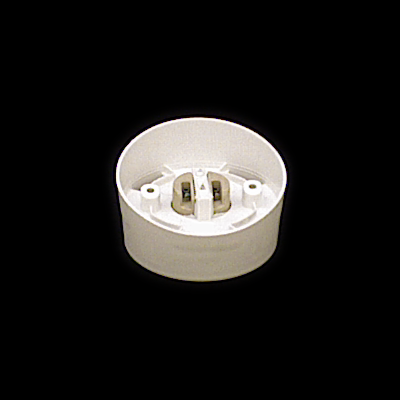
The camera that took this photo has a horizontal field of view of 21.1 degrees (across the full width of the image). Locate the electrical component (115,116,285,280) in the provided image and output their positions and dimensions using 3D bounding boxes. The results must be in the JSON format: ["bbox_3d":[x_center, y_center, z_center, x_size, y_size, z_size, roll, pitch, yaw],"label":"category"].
[{"bbox_3d":[0.000,0.000,0.633,0.099,0.065,0.097,0,30,0],"label":"electrical component"}]
